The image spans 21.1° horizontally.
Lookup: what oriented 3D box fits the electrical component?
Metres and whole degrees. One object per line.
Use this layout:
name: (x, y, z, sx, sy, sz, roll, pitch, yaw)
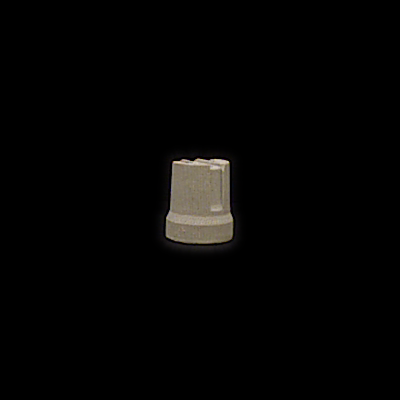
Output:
electrical component: (0.000, 0.000, 0.647, 0.040, 0.046, 0.040, 2, 11, 0)
